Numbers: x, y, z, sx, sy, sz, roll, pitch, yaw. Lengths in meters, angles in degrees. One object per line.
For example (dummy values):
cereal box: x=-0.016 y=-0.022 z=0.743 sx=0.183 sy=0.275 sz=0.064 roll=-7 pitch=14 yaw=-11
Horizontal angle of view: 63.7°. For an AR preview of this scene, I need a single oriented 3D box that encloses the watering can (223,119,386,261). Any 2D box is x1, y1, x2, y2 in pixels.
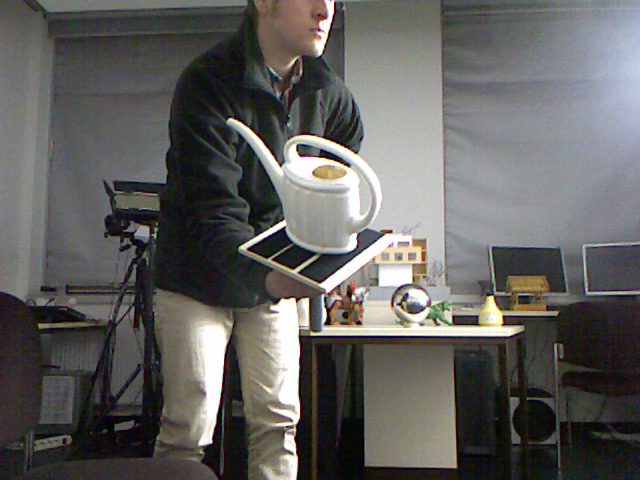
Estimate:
watering can: x=-0.035 y=-0.092 z=0.919 sx=0.351 sy=0.219 sz=0.106 roll=24 pitch=41 yaw=31
